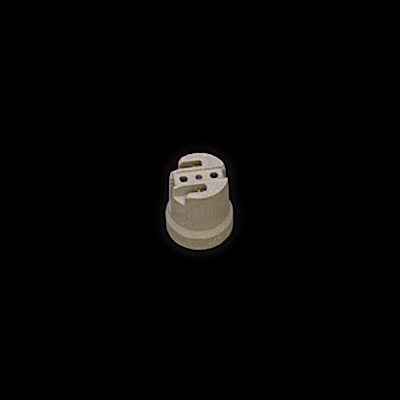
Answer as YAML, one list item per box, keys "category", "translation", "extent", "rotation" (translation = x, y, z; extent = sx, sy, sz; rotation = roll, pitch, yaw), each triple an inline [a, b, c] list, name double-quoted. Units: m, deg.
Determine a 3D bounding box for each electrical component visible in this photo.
- category: "electrical component"
  translation: [0.000, 0.000, 0.634]
  extent: [0.040, 0.040, 0.046]
  rotation: [0, -38, -1]
